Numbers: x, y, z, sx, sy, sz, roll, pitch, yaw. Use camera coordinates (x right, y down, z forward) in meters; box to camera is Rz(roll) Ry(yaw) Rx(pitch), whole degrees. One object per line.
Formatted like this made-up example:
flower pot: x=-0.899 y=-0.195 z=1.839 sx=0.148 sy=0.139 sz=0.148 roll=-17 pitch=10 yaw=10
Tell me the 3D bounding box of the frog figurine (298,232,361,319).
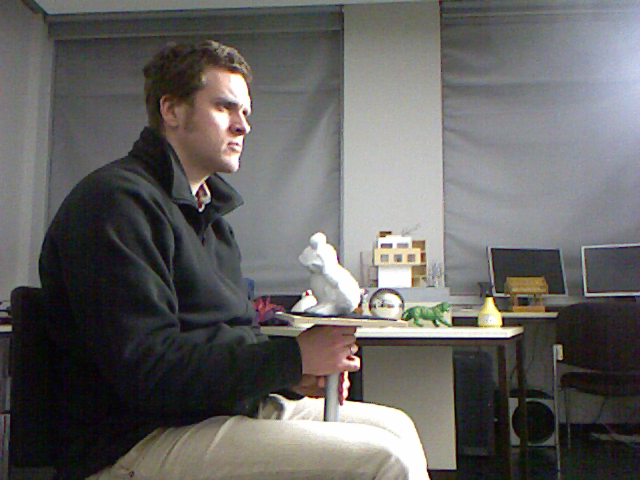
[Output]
frog figurine: x=0.018 y=0.067 z=0.968 sx=0.123 sy=0.160 sz=0.137 roll=4 pitch=-3 yaw=6
